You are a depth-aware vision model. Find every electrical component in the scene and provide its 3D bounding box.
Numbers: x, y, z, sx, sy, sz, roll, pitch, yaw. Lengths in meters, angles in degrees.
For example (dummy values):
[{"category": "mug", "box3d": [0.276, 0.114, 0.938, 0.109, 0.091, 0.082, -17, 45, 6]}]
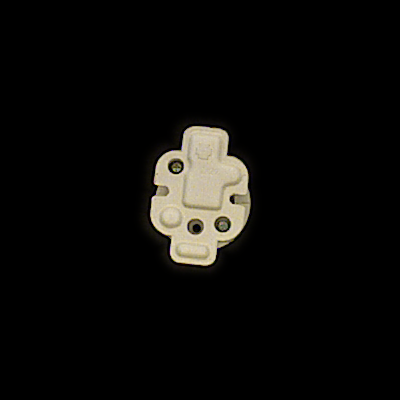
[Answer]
[{"category": "electrical component", "box3d": [0.000, 0.000, 0.637, 0.058, 0.079, 0.056, 5, -7, 2]}]
